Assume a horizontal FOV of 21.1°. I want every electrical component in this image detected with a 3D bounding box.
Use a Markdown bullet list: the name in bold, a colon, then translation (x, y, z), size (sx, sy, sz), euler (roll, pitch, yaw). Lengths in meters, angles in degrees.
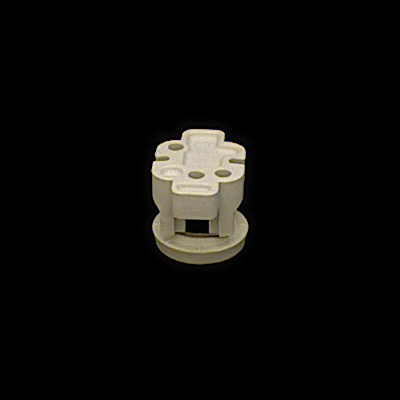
- **electrical component**: translation (0.000, 0.000, 0.644), size (0.058, 0.057, 0.077), euler (2, 31, 2)
